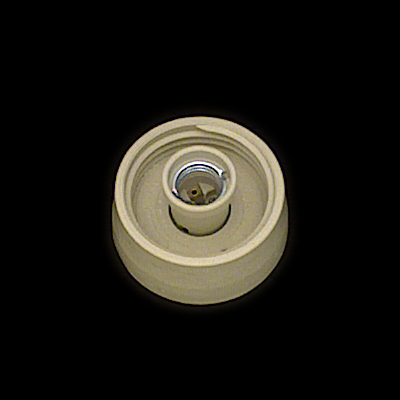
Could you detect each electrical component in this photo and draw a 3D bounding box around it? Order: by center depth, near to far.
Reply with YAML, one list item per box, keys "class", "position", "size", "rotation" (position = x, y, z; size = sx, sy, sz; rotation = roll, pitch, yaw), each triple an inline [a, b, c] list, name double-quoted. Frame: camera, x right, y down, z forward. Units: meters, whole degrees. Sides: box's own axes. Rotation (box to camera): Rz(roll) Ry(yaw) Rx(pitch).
- class: "electrical component"
  position: [0.000, 0.000, 0.634]
  size: [0.108, 0.108, 0.060]
  rotation: [0, -27, 0]
